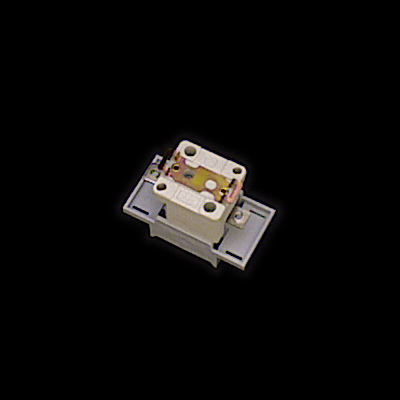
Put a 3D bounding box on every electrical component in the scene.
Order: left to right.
[{"bbox_3d":[0.000,0.000,0.626,0.081,0.042,0.063,25,-25,12],"label":"electrical component"}]
